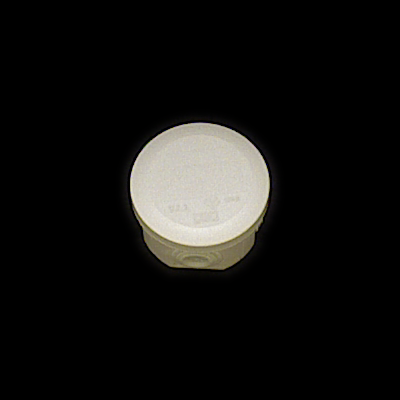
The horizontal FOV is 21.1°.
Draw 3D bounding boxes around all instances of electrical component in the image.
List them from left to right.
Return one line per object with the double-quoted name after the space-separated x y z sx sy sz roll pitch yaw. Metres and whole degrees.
0.000 0.000 0.629 0.080 0.080 0.050 0 -27 0 "electrical component"
